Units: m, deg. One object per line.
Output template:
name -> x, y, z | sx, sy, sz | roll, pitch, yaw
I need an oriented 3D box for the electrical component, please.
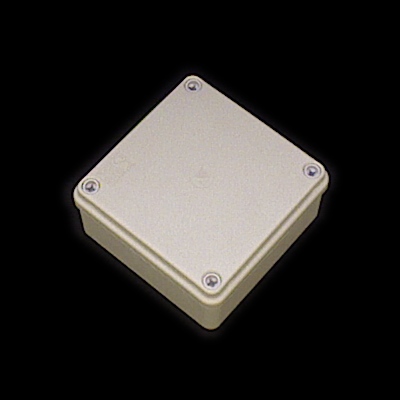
electrical component -> 0.000, 0.000, 0.629 | 0.108, 0.109, 0.056 | 37, -22, 17
